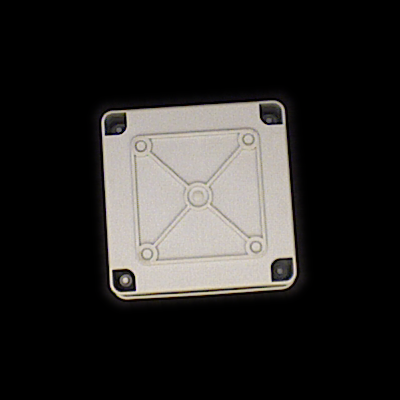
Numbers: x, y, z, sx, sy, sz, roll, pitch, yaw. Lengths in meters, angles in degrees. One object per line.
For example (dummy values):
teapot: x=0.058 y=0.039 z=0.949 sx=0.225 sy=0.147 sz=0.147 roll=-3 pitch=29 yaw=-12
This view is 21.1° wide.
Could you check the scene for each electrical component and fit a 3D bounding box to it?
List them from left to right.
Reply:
electrical component: x=0.000 y=0.000 z=0.628 sx=0.109 sy=0.109 sz=0.056 roll=-4 pitch=-7 yaw=0
